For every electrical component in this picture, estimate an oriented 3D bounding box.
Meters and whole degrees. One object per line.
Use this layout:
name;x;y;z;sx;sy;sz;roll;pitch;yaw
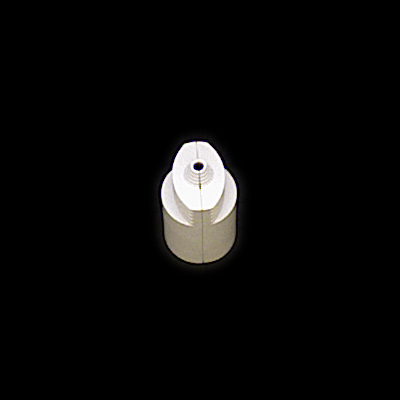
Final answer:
electrical component;0.000;0.000;0.618;0.043;0.043;0.081;0;-28;0
